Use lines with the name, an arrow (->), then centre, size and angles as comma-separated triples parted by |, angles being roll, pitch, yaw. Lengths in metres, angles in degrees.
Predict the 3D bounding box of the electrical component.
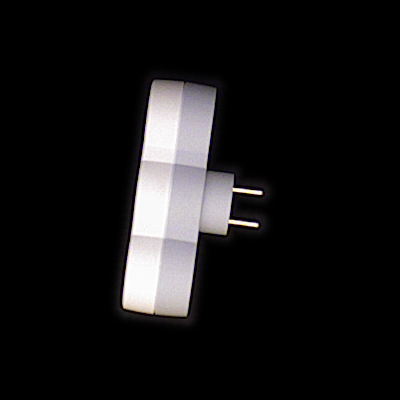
electrical component -> 0.000, 0.000, 0.632 | 0.074, 0.138, 0.052 | 7, -8, -1
